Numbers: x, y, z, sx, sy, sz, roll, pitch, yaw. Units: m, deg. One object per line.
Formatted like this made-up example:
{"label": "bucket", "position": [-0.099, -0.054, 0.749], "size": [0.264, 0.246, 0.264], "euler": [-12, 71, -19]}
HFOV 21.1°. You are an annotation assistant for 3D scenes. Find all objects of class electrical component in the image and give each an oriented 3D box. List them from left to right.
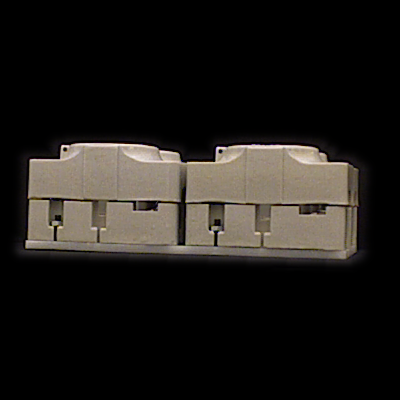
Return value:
{"label": "electrical component", "position": [0.000, 0.000, 0.648], "size": [0.186, 0.060, 0.105], "euler": [1, 0, 12]}
